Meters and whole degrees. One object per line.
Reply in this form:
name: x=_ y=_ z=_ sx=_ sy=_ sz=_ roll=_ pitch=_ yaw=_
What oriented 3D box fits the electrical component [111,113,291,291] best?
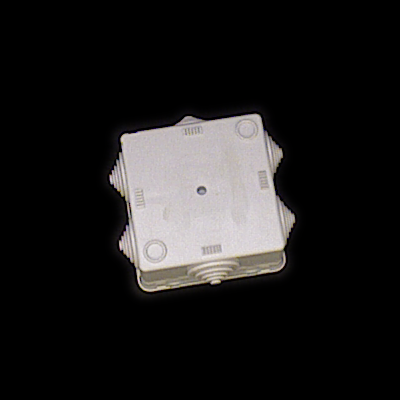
electrical component: x=0.000 y=0.000 z=0.632 sx=0.100 sy=0.100 sz=0.048 roll=-9 pitch=-16 yaw=-3
